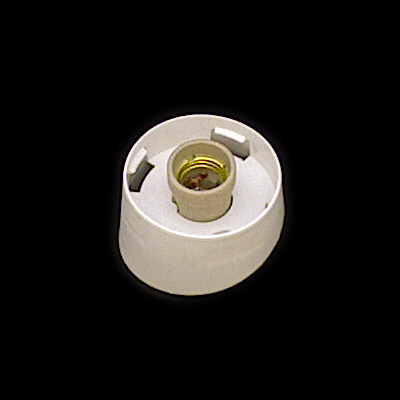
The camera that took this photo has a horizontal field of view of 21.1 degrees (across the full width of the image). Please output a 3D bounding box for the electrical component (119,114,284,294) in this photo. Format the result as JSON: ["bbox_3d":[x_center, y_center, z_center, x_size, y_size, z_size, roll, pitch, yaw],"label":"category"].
[{"bbox_3d":[0.000,0.000,0.627,0.099,0.098,0.064,0,-37,0],"label":"electrical component"}]
